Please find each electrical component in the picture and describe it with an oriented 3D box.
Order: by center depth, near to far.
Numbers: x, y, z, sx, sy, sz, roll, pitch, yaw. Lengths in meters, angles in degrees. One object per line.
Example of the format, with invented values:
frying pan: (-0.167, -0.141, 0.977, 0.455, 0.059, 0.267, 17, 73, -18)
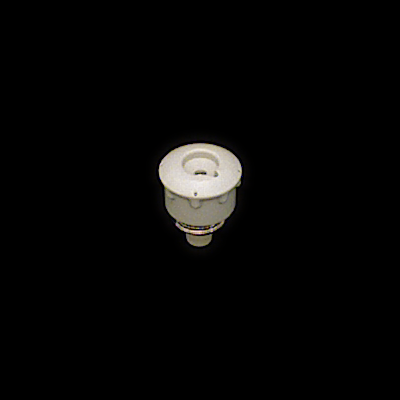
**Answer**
electrical component: (0.000, 0.000, 0.639, 0.048, 0.062, 0.047, 1, 43, 0)
